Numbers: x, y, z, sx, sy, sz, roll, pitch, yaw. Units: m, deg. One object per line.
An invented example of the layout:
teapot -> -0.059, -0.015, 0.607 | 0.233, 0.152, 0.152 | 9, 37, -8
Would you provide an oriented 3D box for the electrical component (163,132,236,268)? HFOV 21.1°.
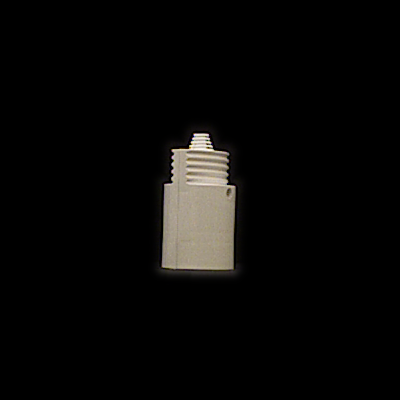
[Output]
electrical component -> 0.000, 0.000, 0.649 | 0.043, 0.081, 0.043 | 1, 1, 0
